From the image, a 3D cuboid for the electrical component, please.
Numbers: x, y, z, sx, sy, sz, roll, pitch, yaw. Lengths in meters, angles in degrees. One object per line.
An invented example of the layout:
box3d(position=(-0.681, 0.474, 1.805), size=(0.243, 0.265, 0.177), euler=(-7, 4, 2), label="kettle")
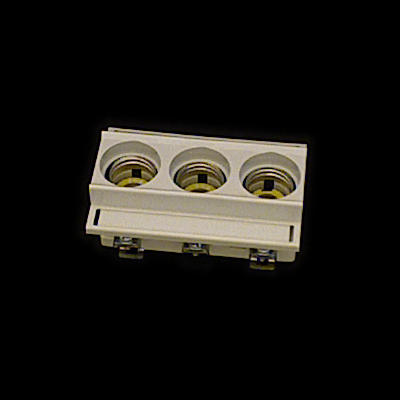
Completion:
box3d(position=(0.000, 0.000, 0.640), size=(0.121, 0.078, 0.063), euler=(5, -38, 4), label="electrical component")
